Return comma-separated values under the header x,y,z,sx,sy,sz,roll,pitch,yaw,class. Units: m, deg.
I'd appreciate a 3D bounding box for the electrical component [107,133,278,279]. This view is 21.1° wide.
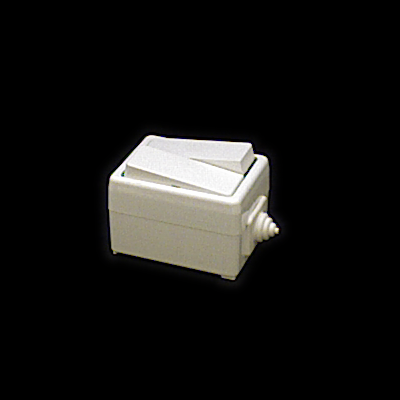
x,y,z,sx,sy,sz,roll,pitch,yaw,class
0.000,0.000,0.634,0.096,0.061,0.061,11,33,17,electrical component
